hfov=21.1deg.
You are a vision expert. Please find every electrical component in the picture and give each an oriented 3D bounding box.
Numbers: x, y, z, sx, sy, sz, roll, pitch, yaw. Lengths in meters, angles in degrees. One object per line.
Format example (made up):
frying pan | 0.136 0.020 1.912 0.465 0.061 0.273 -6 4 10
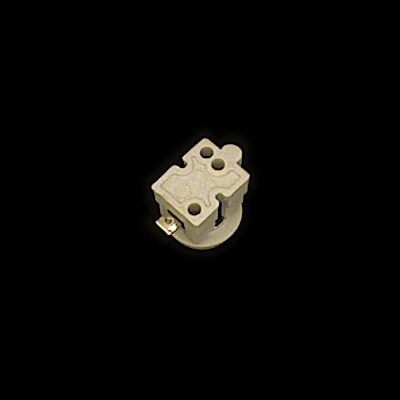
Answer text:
electrical component | 0.000 0.000 0.638 0.048 0.067 0.055 42 -19 17
